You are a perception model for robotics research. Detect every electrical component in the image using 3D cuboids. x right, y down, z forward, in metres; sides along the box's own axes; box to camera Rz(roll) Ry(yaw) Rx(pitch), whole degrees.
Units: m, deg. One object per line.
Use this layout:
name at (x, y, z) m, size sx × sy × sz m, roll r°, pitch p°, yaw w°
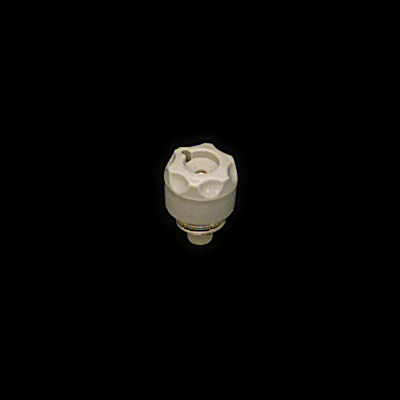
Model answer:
electrical component at (0.000, 0.000, 0.638) m, size 0.043 × 0.062 × 0.043 m, roll 1°, pitch 43°, yaw 0°
